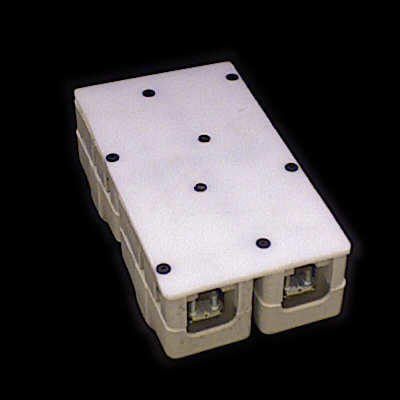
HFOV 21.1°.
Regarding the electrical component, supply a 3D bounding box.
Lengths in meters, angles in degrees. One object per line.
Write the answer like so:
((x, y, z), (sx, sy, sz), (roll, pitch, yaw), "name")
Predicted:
((0.000, 0.000, 0.629), (0.105, 0.061, 0.184), (-13, 44, -15), "electrical component")
